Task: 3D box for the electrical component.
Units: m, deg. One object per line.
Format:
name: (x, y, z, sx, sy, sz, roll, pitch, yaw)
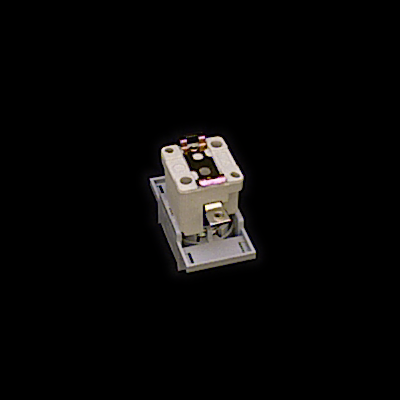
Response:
electrical component: (0.000, 0.000, 0.630, 0.042, 0.064, 0.080, -12, 44, -13)
